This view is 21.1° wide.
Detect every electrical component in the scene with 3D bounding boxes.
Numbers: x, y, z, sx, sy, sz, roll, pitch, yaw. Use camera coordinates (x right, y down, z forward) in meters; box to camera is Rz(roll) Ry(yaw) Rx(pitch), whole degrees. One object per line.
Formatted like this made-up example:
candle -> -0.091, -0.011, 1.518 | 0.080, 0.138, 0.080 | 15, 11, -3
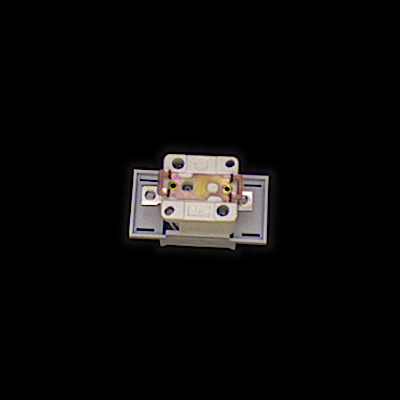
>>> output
electrical component -> 0.000, 0.000, 0.625 | 0.081, 0.042, 0.063 | 2, -17, 1
